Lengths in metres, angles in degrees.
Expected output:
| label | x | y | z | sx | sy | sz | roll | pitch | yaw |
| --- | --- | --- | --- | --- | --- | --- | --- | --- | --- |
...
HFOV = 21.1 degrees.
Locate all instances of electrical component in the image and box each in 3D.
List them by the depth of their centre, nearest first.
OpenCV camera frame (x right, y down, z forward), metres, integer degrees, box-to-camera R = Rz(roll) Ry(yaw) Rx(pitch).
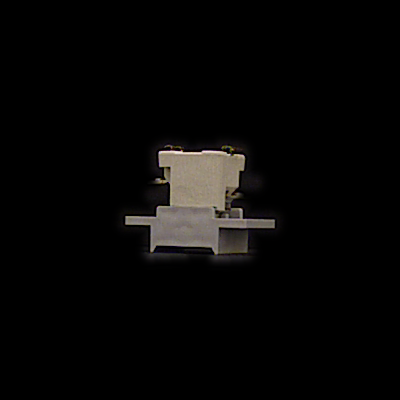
| label | x | y | z | sx | sy | sz | roll | pitch | yaw |
| --- | --- | --- | --- | --- | --- | --- | --- | --- | --- |
| electrical component | 0.000 | 0.000 | 0.650 | 0.081 | 0.064 | 0.042 | 1 | 1 | 26 |
